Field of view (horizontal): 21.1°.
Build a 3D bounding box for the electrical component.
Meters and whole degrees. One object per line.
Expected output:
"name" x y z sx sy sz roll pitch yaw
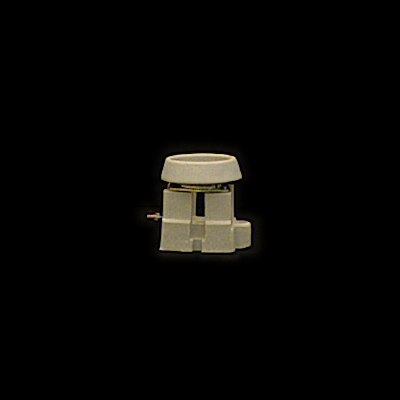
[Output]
"electrical component" 0.000 0.000 0.650 0.066 0.056 0.048 2 10 3
